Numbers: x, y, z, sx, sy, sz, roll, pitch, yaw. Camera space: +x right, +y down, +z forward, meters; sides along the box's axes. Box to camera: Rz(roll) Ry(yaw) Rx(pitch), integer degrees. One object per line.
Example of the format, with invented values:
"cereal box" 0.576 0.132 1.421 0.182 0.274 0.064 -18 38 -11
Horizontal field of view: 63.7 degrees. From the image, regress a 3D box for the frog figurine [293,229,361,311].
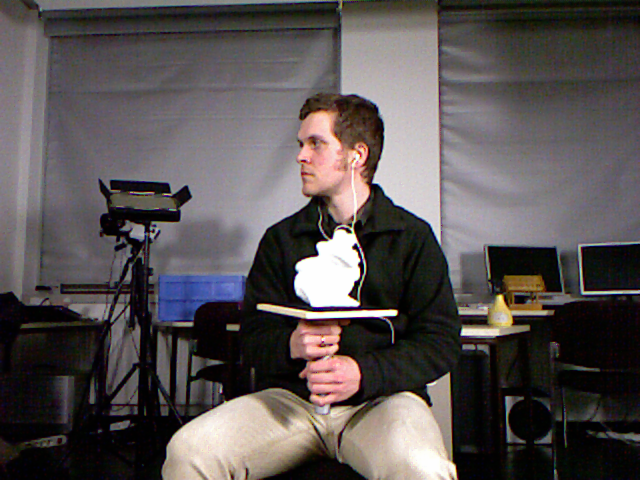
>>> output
"frog figurine" 0.016 0.057 1.031 0.137 0.160 0.123 3 -1 -8
